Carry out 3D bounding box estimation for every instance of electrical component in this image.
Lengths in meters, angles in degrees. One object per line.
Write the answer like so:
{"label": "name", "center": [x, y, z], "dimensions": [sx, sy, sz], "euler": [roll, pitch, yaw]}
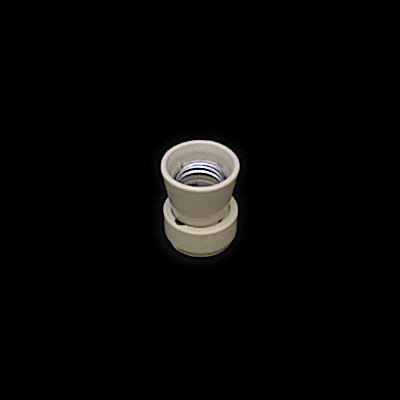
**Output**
{"label": "electrical component", "center": [0.000, 0.000, 0.631], "dimensions": [0.045, 0.055, 0.044], "euler": [0, 41, 0]}
